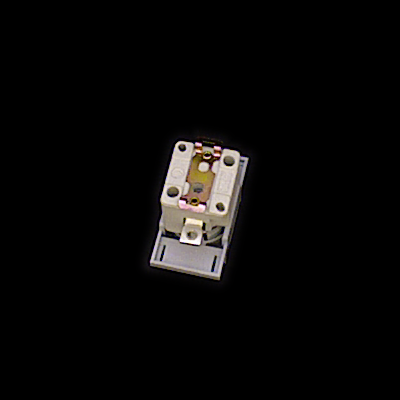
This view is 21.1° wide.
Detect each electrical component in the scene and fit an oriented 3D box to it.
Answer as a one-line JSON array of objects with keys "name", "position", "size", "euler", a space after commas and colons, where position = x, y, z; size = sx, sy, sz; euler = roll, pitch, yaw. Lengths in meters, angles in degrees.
[{"name": "electrical component", "position": [0.000, 0.000, 0.626], "size": [0.042, 0.081, 0.063], "euler": [11, -26, 6]}]
